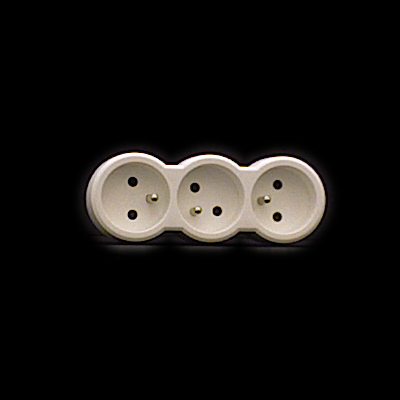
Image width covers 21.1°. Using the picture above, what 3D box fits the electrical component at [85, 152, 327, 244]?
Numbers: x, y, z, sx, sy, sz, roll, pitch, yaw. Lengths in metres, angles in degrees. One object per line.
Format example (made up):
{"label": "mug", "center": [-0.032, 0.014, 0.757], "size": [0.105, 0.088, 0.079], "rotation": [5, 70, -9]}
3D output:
{"label": "electrical component", "center": [0.000, 0.000, 0.649], "size": [0.138, 0.052, 0.073], "rotation": [1, -2, -11]}
